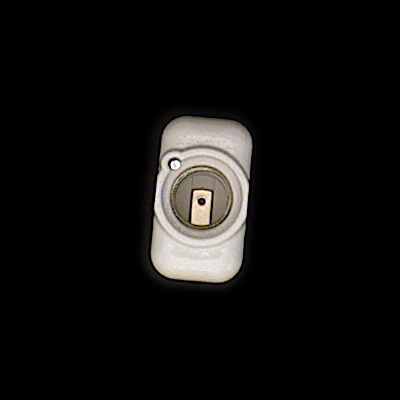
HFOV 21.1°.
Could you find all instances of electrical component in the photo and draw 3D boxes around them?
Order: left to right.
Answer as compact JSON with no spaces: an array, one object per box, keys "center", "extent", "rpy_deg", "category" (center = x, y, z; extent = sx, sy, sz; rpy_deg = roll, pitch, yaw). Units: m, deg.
[{"center":[0.000,0.000,0.635],"extent":[0.054,0.095,0.059],"rpy_deg":[4,-6,1],"category":"electrical component"}]
